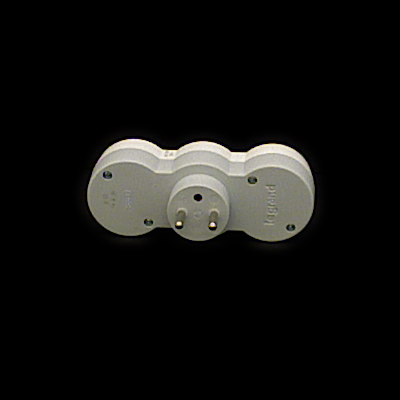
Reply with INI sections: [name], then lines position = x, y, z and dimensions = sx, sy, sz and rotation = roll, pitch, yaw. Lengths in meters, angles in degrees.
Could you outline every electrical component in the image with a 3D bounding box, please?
[electrical component]
position = 0.000, 0.000, 0.644
dimensions = 0.138, 0.053, 0.073
rotation = 2, 23, 2
